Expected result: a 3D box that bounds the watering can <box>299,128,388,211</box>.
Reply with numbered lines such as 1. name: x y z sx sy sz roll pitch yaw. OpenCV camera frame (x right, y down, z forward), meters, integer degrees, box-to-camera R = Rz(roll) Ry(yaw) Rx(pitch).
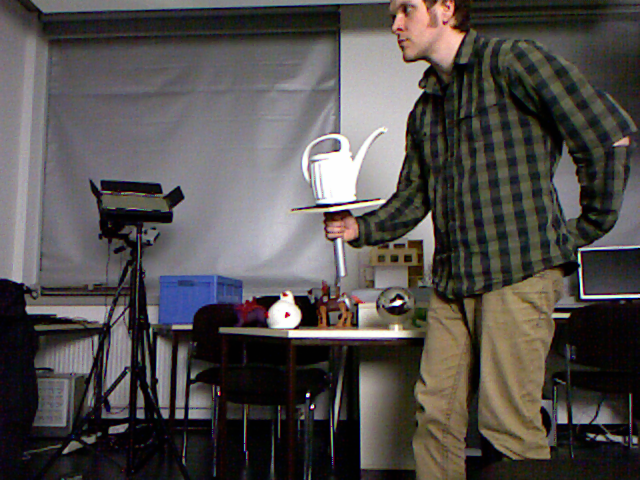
1. watering can: 0.064 -0.191 1.435 0.105 0.223 0.347 -17 10 -41
